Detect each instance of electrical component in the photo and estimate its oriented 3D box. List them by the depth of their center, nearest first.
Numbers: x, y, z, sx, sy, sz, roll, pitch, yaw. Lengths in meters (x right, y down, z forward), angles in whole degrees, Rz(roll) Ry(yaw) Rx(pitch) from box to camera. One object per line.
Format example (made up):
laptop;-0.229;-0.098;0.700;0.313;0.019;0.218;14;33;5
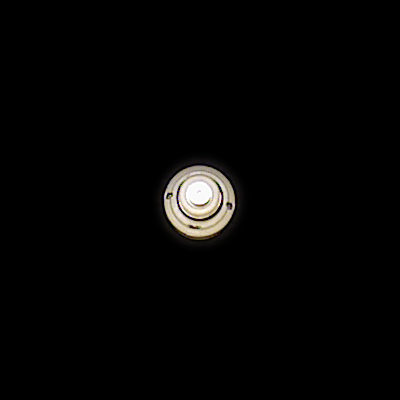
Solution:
electrical component;0.000;0.000;0.618;0.040;0.040;0.078;0;-6;-1
